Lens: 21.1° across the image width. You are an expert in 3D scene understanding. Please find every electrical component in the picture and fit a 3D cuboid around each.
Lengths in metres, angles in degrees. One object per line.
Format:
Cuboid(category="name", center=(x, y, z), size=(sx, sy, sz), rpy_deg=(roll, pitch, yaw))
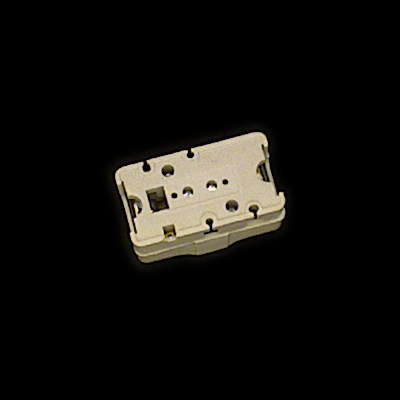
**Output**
Cuboid(category="electrical component", center=(0.000, 0.000, 0.636), size=(0.090, 0.050, 0.055), rpy_deg=(-15, -15, -4))
